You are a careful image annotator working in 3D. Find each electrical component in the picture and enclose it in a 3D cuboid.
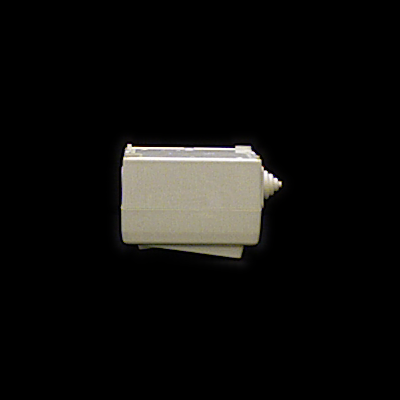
[{"bbox_3d":[0.000,0.000,0.647,0.096,0.061,0.061,0,10,-3],"label":"electrical component"}]
